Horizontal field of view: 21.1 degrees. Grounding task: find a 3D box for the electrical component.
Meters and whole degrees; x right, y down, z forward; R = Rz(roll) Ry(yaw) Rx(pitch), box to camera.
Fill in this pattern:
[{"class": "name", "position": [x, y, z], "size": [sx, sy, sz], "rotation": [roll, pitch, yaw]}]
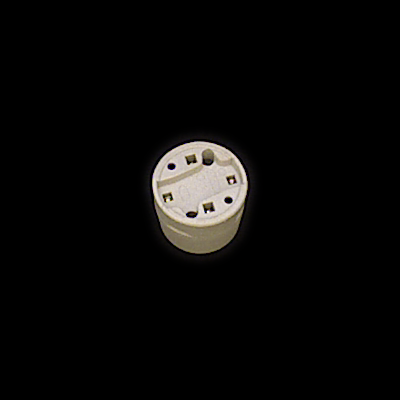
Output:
[{"class": "electrical component", "position": [0.000, 0.000, 0.635], "size": [0.055, 0.056, 0.047], "rotation": [0, -27, 0]}]
